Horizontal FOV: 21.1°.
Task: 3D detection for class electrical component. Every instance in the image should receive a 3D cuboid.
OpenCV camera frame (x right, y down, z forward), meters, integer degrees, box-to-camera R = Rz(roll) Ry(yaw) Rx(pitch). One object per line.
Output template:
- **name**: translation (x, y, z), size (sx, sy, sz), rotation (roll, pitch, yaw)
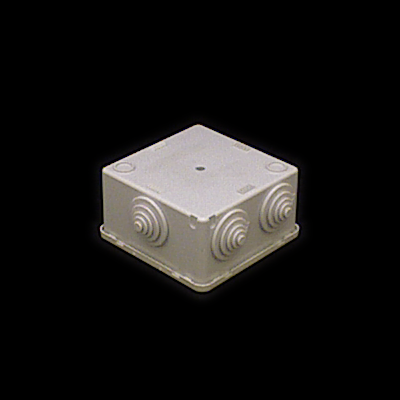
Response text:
- **electrical component**: translation (0.000, 0.000, 0.636), size (0.099, 0.049, 0.099), rotation (27, 40, 35)
